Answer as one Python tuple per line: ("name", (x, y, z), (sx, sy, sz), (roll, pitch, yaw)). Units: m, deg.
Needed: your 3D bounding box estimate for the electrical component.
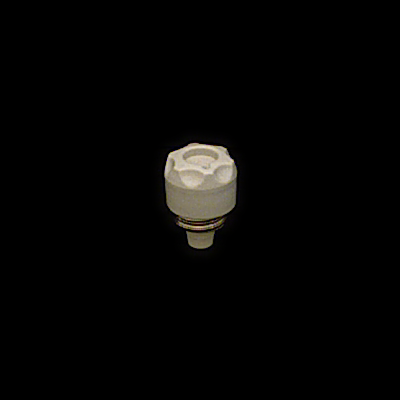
("electrical component", (0.000, 0.000, 0.642), (0.043, 0.063, 0.043), (0, 32, 0))
